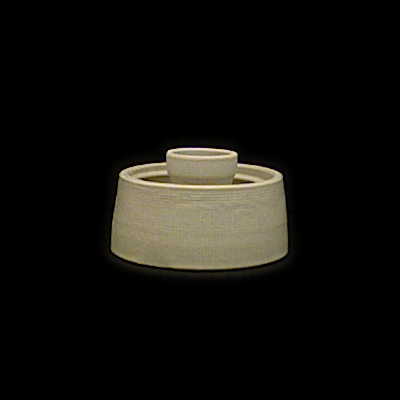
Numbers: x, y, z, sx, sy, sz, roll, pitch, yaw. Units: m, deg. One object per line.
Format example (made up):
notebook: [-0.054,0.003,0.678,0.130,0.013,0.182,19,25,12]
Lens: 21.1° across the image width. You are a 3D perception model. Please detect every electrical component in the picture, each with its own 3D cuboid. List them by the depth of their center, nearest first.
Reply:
electrical component: [0.000,0.000,0.649,0.108,0.061,0.107,2,11,0]
